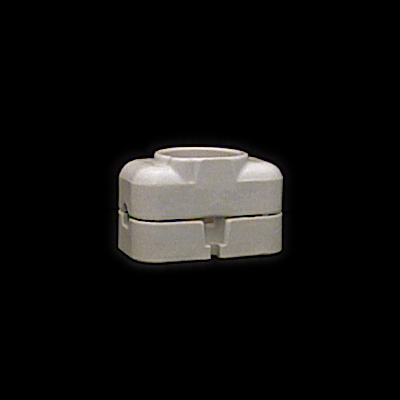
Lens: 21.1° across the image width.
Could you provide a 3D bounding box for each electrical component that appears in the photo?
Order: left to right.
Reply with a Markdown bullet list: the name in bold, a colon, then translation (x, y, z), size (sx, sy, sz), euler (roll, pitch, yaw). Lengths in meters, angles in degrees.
- **electrical component**: translation (0.000, 0.000, 0.649), size (0.096, 0.060, 0.053), euler (-3, 12, -21)
